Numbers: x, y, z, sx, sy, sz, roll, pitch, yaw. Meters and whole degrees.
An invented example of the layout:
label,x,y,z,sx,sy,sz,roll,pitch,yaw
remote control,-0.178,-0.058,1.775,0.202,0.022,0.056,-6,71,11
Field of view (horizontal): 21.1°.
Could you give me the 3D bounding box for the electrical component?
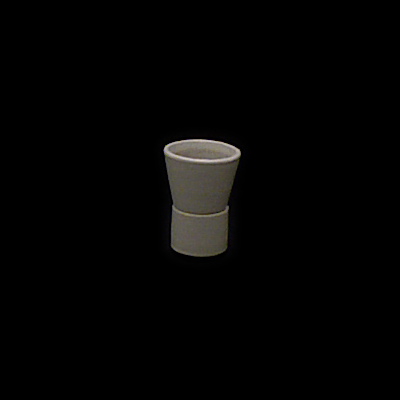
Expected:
label,x,y,z,sx,sy,sz,roll,pitch,yaw
electrical component,0.000,0.000,0.640,0.044,0.066,0.044,2,20,0
